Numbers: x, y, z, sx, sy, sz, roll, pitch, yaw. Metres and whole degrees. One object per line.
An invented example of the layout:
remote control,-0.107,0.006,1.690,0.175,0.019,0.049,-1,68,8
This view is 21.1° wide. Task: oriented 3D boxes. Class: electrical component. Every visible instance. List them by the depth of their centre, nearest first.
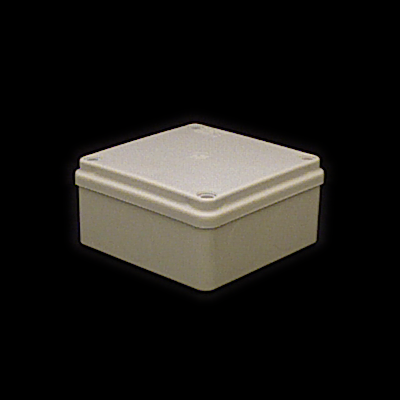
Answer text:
electrical component,0.000,0.000,0.638,0.108,0.057,0.108,18,27,38
